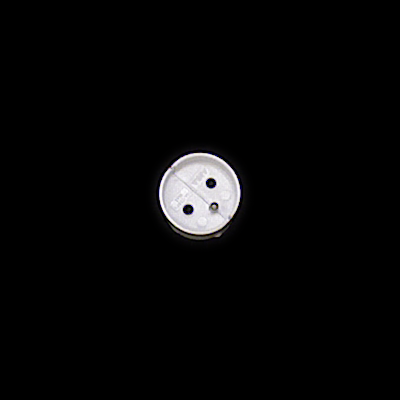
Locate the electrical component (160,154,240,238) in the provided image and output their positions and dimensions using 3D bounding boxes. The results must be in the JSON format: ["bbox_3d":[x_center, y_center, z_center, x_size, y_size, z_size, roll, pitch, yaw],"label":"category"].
[{"bbox_3d":[0.000,0.000,0.616,0.043,0.043,0.080,0,-5,0],"label":"electrical component"}]
